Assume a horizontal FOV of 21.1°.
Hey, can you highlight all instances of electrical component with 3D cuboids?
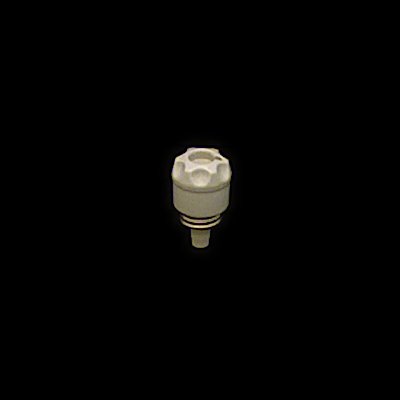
[{"bbox_3d":[0.000,0.000,0.640,0.035,0.062,0.034,1,33,0],"label":"electrical component"}]
